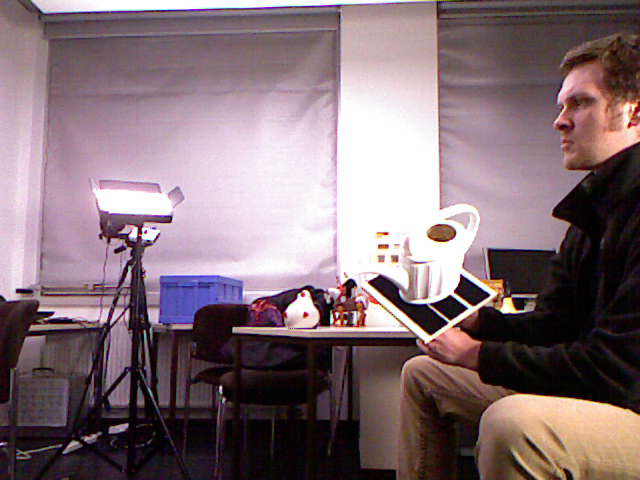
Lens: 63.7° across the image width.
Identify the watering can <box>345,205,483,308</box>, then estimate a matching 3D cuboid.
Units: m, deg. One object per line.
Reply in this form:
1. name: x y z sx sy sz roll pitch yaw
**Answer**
1. watering can: 0.194 0.052 1.046 0.351 0.219 0.106 -26 45 -22
